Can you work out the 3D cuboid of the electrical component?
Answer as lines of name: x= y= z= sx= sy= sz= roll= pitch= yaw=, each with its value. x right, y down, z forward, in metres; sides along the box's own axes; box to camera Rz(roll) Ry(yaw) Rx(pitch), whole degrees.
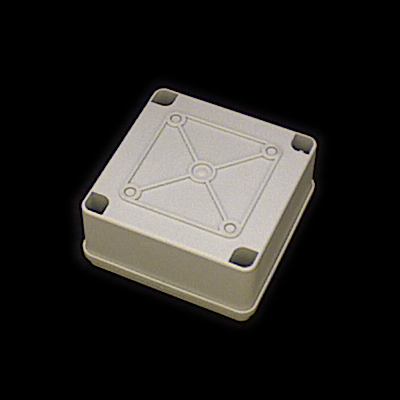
electrical component: x=0.000 y=0.000 z=0.631 sx=0.108 sy=0.108 sz=0.056 roll=20 pitch=-35 yaw=14
